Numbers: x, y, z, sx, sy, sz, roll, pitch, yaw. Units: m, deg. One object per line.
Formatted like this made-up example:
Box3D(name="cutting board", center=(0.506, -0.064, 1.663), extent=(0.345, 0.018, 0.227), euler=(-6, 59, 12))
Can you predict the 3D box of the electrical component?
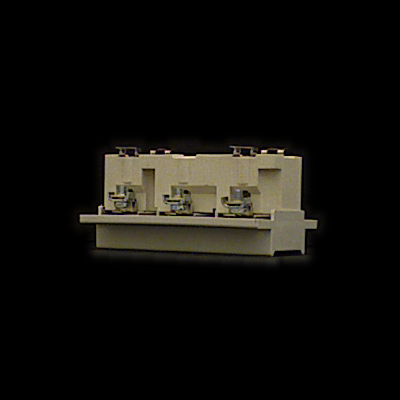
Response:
Box3D(name="electrical component", center=(0.000, 0.000, 0.654), extent=(0.120, 0.063, 0.079), euler=(1, 1, 30))
